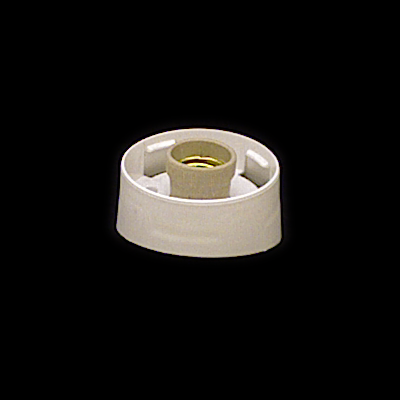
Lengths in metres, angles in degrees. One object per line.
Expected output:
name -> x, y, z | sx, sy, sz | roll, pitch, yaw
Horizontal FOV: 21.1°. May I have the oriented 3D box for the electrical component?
electrical component -> 0.000, 0.000, 0.633 | 0.099, 0.065, 0.097 | 1, 31, 0
